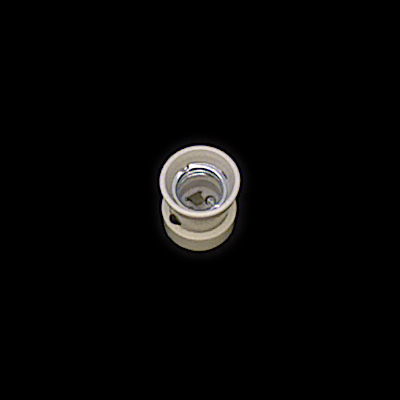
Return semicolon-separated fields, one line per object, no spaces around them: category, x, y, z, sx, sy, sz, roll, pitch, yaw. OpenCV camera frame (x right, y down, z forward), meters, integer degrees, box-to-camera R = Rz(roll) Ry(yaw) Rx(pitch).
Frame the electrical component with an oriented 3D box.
electrical component;0.000;0.000;0.628;0.045;0.045;0.055;0;-26;0
